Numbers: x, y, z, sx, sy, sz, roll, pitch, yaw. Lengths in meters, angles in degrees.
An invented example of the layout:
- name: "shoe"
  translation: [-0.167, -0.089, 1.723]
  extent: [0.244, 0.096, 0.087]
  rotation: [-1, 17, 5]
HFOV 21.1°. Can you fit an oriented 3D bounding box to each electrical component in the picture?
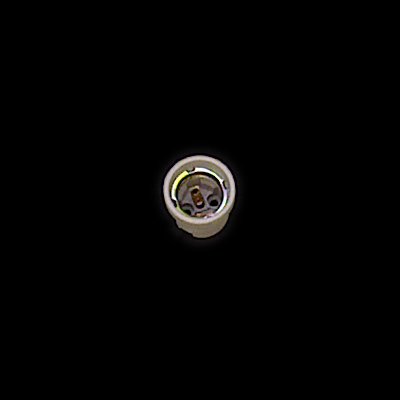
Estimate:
- name: "electrical component"
  translation: [0.000, 0.000, 0.626]
  extent: [0.040, 0.040, 0.046]
  rotation: [0, -17, 0]
